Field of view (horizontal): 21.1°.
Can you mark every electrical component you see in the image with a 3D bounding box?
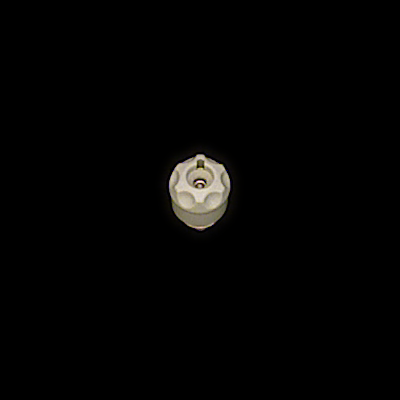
[{"bbox_3d":[0.000,0.000,0.635,0.035,0.035,0.061,0,-27,0],"label":"electrical component"}]
